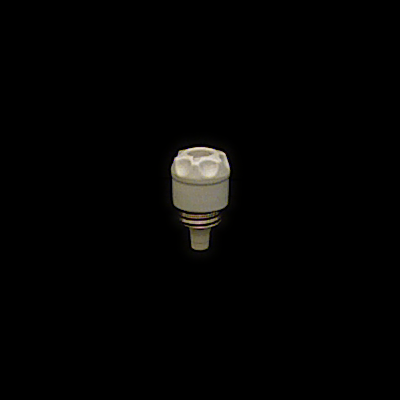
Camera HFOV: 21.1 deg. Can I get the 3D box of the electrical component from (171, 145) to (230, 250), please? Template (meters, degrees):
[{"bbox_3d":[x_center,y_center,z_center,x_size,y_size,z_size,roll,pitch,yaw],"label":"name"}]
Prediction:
[{"bbox_3d":[0.000,0.000,0.644,0.035,0.062,0.035,1,22,0],"label":"electrical component"}]
